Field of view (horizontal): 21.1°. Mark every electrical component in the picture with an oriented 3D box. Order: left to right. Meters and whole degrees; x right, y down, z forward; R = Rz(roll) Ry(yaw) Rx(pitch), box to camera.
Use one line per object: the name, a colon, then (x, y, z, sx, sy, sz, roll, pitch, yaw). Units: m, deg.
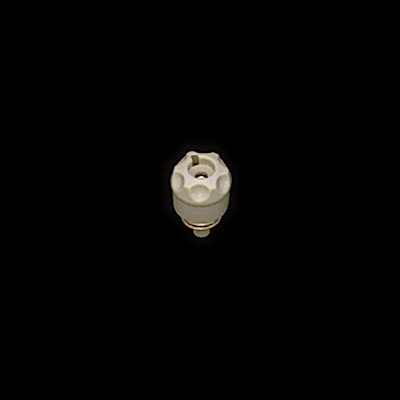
electrical component: (0.000, 0.000, 0.637, 0.035, 0.035, 0.062, 0, -37, 0)
